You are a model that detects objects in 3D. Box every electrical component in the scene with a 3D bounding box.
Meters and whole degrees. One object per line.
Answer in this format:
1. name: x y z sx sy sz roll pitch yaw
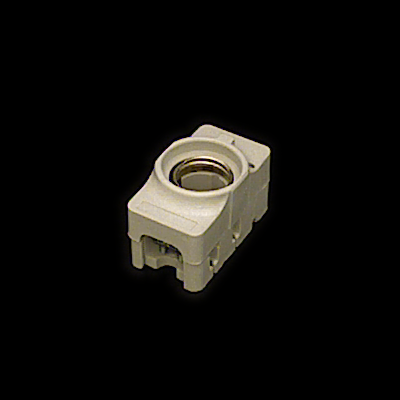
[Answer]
1. electrical component: 0.000 0.000 0.639 0.050 0.056 0.089 22 47 21
